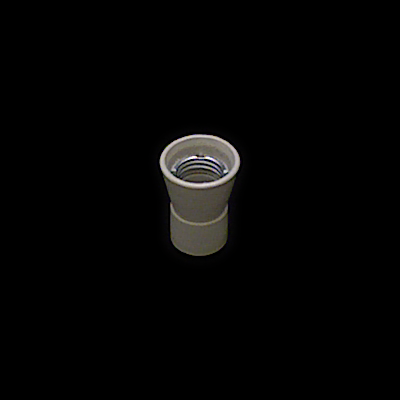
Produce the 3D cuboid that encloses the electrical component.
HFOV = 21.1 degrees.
[{"bbox_3d":[0.000,0.000,0.627,0.044,0.066,0.044,1,43,-1],"label":"electrical component"}]
